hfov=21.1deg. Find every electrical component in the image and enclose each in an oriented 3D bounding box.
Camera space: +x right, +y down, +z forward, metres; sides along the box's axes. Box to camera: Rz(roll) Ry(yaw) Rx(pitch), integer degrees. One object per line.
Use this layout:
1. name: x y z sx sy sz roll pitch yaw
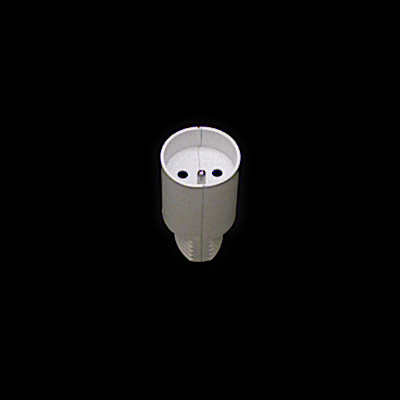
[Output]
1. electrical component: 0.000 0.000 0.618 0.043 0.043 0.081 0 -37 0
